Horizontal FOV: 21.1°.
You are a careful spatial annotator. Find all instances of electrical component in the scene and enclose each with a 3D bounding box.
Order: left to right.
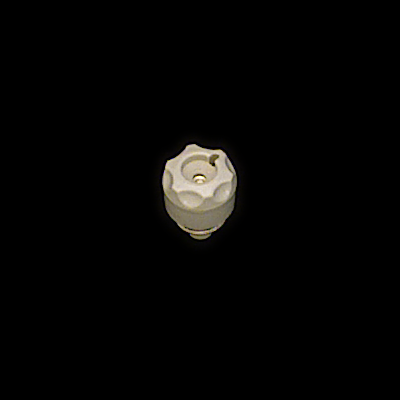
[{"bbox_3d":[0.000,0.000,0.635,0.043,0.043,0.062,0,-36,0],"label":"electrical component"}]
